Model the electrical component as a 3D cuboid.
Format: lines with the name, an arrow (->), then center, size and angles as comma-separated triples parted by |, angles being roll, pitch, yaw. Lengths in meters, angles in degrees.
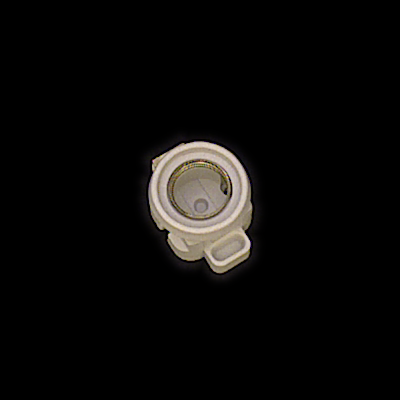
electrical component -> 0.000, 0.000, 0.629 | 0.058, 0.078, 0.056 | -31, -14, -9
